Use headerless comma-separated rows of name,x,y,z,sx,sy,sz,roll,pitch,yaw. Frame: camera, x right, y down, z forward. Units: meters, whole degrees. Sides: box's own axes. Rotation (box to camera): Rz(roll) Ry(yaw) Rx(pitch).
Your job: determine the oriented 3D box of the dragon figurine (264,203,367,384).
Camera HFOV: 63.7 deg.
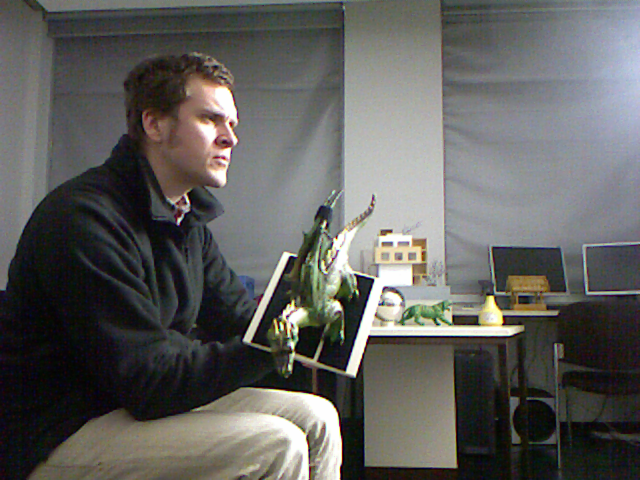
dragon figurine,0.008,0.040,0.832,0.123,0.421,0.238,18,-32,10
